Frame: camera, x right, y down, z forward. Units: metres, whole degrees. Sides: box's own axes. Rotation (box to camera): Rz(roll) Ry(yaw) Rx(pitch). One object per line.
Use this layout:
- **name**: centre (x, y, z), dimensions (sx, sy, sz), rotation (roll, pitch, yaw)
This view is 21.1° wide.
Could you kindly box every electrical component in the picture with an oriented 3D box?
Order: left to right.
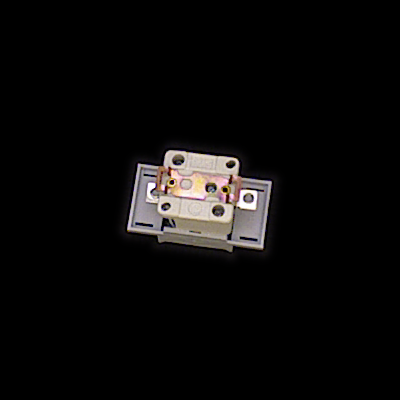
- **electrical component**: centre (0.000, 0.000, 0.625), dimensions (0.081, 0.042, 0.063), rotation (7, -16, 2)
